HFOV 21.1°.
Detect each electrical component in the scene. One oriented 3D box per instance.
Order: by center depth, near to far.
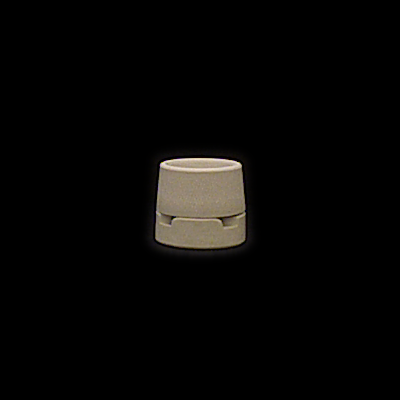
[{"bbox_3d":[0.000,0.000,0.646,0.055,0.047,0.055,0,10,0],"label":"electrical component"}]
